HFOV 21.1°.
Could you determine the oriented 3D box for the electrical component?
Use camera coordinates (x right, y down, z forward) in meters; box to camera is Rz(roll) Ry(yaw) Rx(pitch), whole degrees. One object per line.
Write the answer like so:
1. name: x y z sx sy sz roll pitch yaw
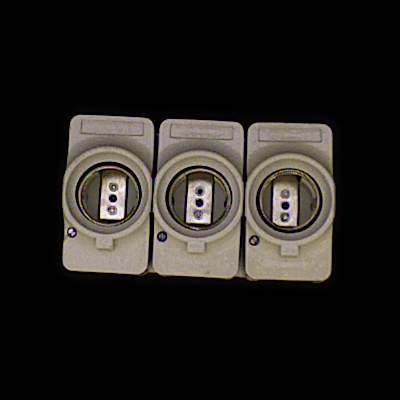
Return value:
1. electrical component: 0.000 0.000 0.632 0.150 0.089 0.061 2 -5 1
